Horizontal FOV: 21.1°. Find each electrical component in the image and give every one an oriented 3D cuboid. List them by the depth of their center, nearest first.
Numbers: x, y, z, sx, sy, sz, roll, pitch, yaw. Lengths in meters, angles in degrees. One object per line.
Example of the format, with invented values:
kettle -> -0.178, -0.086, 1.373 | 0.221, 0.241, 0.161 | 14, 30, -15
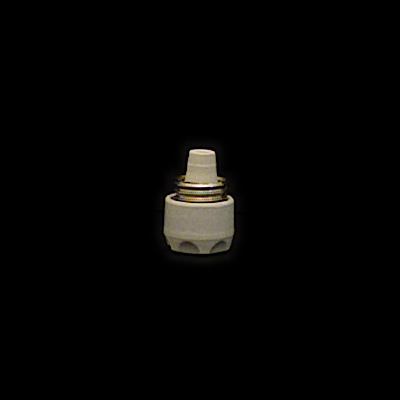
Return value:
electrical component -> 0.000, 0.000, 0.651 | 0.043, 0.062, 0.043 | 2, 12, 0
